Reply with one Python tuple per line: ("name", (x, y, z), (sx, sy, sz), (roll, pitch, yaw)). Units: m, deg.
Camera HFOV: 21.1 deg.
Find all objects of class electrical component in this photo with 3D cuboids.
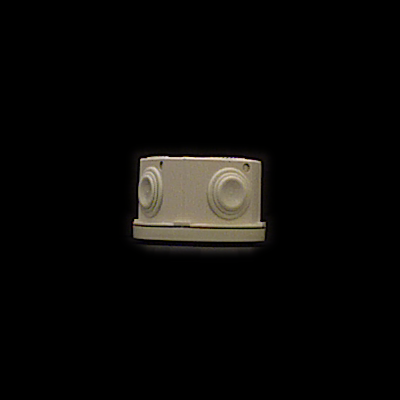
("electrical component", (0.000, 0.000, 0.648), (0.080, 0.051, 0.080), (1, 1, 0))
